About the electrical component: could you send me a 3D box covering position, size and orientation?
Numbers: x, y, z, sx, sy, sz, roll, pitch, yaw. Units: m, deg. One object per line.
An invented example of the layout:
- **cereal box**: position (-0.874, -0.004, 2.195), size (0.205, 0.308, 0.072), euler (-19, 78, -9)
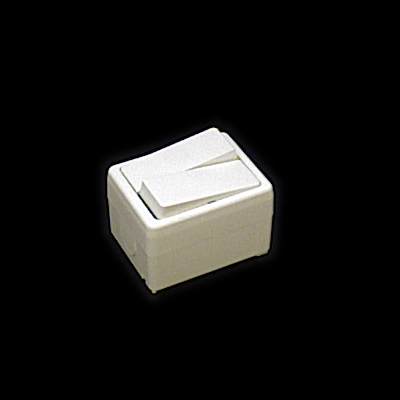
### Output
- **electrical component**: position (0.000, 0.000, 0.632), size (0.096, 0.061, 0.061), euler (-18, 45, -20)
